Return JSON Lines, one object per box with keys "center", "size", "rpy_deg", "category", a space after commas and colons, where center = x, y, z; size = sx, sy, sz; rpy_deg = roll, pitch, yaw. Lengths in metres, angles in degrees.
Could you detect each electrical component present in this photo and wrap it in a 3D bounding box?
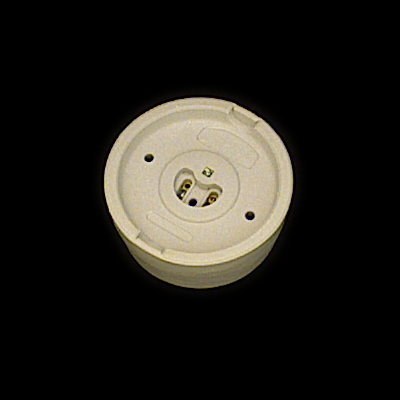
{"center": [0.000, 0.000, 0.636], "size": [0.108, 0.107, 0.060], "rpy_deg": [0, -27, 0], "category": "electrical component"}
